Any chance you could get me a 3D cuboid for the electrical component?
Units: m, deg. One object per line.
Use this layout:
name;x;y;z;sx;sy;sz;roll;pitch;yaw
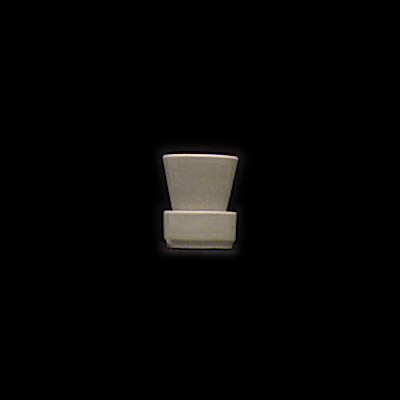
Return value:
electrical component;0.000;0.000;0.649;0.045;0.055;0.045;1;0;0
